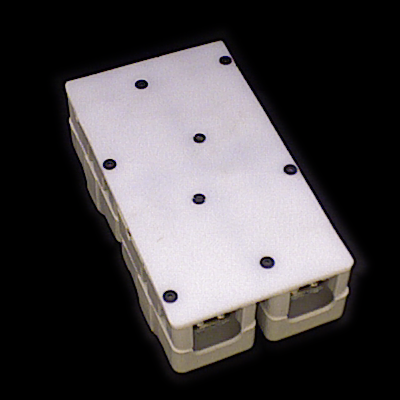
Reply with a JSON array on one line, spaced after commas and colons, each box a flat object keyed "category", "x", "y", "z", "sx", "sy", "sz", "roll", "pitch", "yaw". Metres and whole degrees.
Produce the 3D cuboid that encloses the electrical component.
[{"category": "electrical component", "x": 0.000, "y": 0.000, "z": 0.627, "sx": 0.105, "sy": 0.185, "sz": 0.060, "roll": -18, "pitch": -35, "yaw": -14}]
